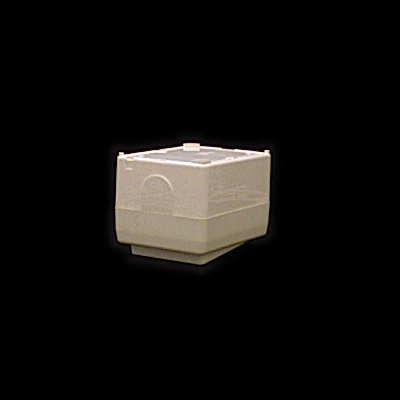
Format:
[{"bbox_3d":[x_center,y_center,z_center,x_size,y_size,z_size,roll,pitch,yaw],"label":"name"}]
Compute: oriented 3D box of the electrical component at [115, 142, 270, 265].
[{"bbox_3d":[0.000,0.000,0.645,0.061,0.061,0.096,8,11,31],"label":"electrical component"}]
